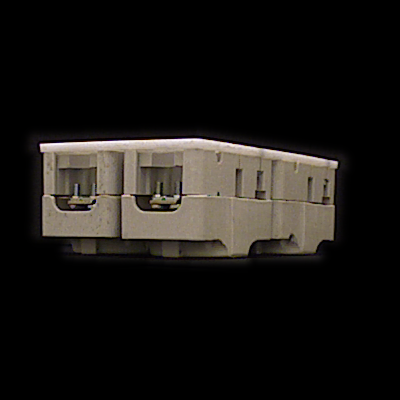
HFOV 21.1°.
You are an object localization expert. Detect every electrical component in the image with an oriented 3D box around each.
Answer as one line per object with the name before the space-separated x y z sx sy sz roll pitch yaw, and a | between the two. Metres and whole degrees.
electrical component | 0.000 0.000 0.650 0.105 0.060 0.187 1 -1 30
